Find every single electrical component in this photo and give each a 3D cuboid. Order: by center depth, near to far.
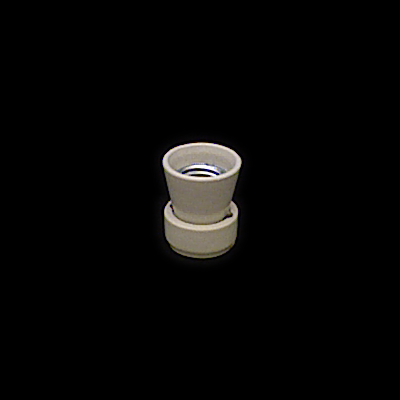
[{"bbox_3d":[0.000,0.000,0.636,0.045,0.056,0.044,1,31,0],"label":"electrical component"}]
